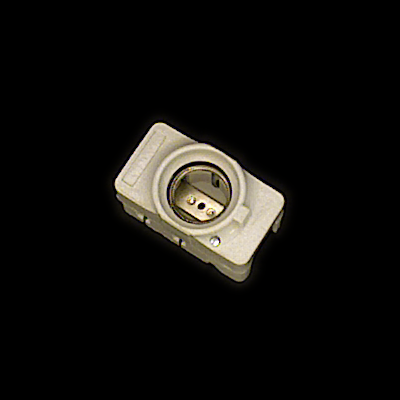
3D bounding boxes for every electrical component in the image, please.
[{"bbox_3d":[0.000,0.000,0.636,0.089,0.050,0.055,31,-13,9],"label":"electrical component"}]
